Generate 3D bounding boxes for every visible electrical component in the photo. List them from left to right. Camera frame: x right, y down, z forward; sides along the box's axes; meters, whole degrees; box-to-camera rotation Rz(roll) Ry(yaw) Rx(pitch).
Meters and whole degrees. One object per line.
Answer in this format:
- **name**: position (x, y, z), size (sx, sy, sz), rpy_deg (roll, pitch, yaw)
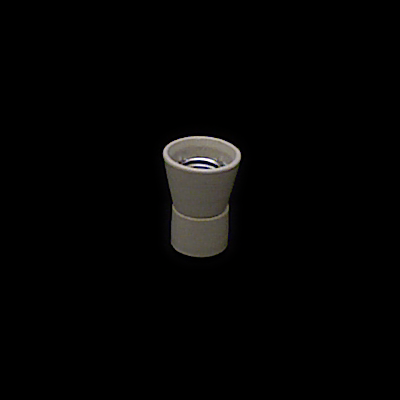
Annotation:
- **electrical component**: position (0.000, 0.000, 0.635), size (0.044, 0.066, 0.044), rpy_deg (1, 30, -1)
